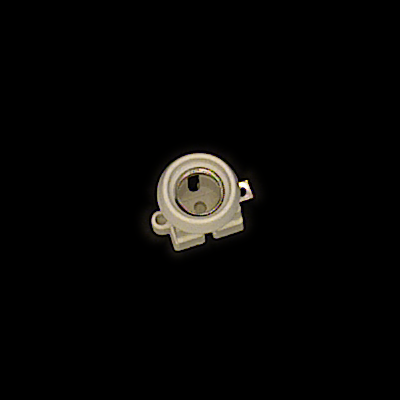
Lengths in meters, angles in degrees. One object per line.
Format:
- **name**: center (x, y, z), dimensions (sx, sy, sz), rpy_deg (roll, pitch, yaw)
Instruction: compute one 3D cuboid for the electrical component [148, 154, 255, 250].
- **electrical component**: center (0.000, 0.000, 0.638), dimensions (0.066, 0.048, 0.055), rpy_deg (-19, -13, -5)
